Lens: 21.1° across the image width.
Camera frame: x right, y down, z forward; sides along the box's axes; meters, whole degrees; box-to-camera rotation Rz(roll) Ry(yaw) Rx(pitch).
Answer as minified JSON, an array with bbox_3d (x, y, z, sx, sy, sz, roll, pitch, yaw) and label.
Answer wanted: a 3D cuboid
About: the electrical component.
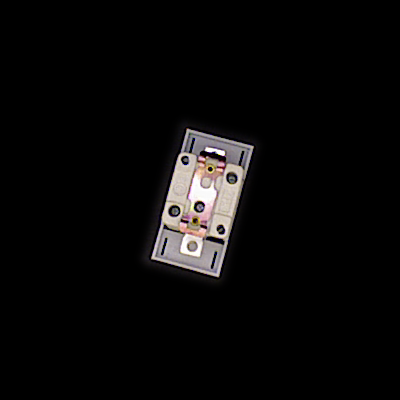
[{"bbox_3d":[0.000,0.000,0.626,0.042,0.081,0.063,14,-6,2],"label":"electrical component"}]
